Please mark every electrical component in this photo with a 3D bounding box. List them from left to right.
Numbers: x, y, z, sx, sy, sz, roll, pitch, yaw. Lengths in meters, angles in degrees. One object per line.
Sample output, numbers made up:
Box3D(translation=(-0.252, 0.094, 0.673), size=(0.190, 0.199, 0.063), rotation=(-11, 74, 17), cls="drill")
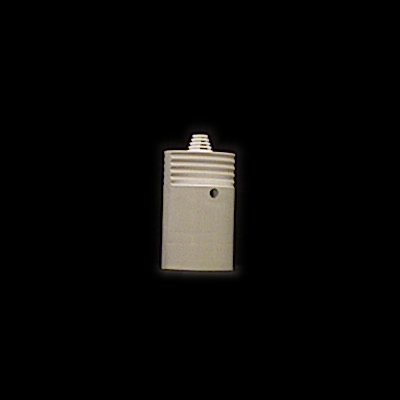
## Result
Box3D(translation=(0.000, 0.000, 0.649), size=(0.043, 0.081, 0.043), rotation=(1, 1, 0), cls="electrical component")
